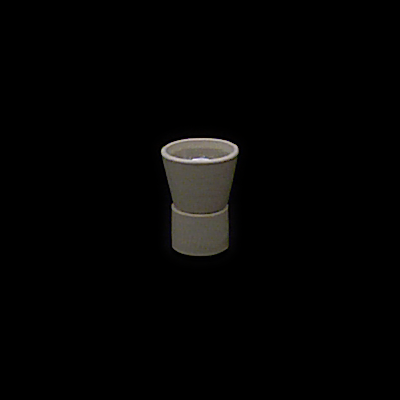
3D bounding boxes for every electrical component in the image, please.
[{"bbox_3d":[0.000,0.000,0.636,0.044,0.066,0.044,0,22,0],"label":"electrical component"}]
